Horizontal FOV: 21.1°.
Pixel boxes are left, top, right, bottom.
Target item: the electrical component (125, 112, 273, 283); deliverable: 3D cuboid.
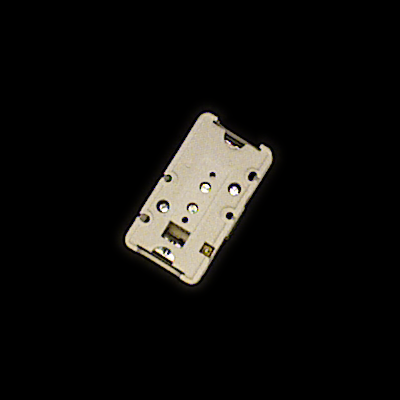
[{"bbox_3d":[0.000,0.000,0.637,0.050,0.090,0.055,31,-4,3],"label":"electrical component"}]
